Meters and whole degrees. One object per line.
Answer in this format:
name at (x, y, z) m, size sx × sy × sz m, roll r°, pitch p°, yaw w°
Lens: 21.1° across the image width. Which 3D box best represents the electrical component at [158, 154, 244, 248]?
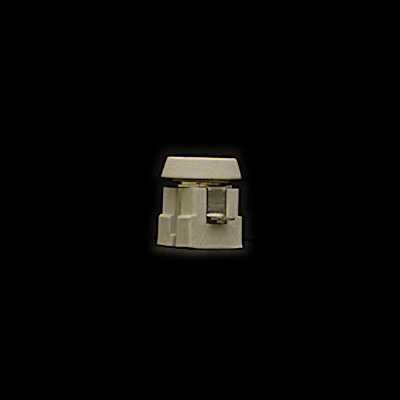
electrical component at (0.000, 0.000, 0.656) m, size 0.049 × 0.055 × 0.066 m, roll -2°, pitch 3°, yaw -30°
